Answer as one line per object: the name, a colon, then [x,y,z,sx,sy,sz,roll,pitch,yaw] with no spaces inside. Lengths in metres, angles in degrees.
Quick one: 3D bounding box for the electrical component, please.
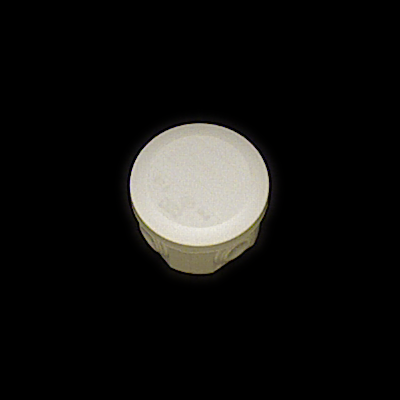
electrical component: [0.000,0.000,0.631,0.080,0.080,0.050,0,-27,0]
